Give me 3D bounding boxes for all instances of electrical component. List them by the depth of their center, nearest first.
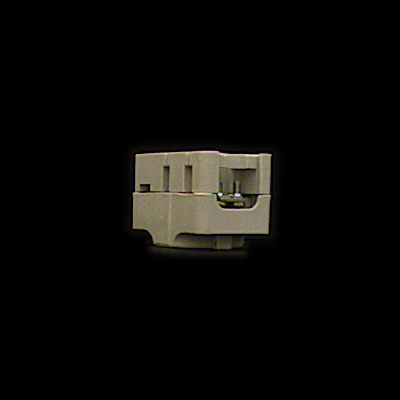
[{"bbox_3d":[0.000,0.000,0.657,0.050,0.056,0.089,1,1,-31],"label":"electrical component"}]
